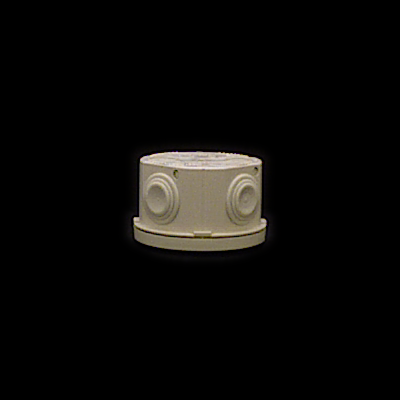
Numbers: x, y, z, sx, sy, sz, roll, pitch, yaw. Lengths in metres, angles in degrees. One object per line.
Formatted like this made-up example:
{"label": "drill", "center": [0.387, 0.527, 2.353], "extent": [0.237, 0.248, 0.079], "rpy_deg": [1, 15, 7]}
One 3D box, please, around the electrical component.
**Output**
{"label": "electrical component", "center": [0.000, 0.000, 0.647], "extent": [0.080, 0.051, 0.079], "rpy_deg": [1, 10, 0]}
